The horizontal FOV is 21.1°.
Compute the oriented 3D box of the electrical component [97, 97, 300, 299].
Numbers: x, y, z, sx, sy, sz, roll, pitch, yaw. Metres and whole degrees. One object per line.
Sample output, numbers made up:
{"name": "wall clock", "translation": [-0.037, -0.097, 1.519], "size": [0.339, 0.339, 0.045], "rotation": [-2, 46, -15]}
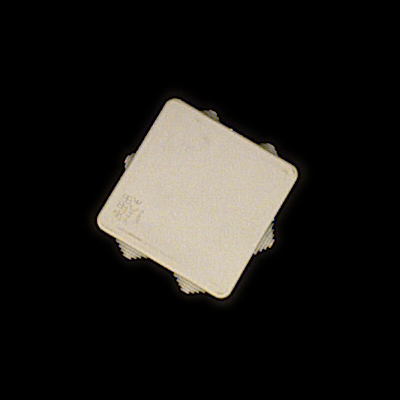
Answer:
{"name": "electrical component", "translation": [0.000, 0.000, 0.642], "size": [0.100, 0.100, 0.048], "rotation": [31, -5, 3]}
